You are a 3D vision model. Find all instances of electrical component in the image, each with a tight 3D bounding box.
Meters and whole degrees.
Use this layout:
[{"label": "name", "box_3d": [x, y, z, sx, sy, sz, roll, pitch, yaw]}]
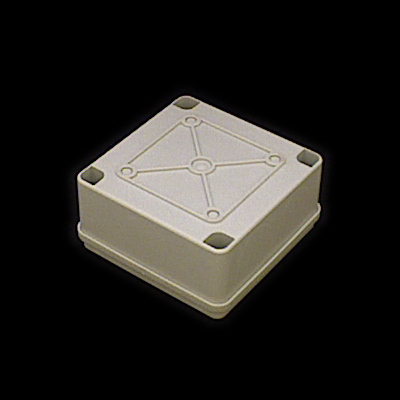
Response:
[{"label": "electrical component", "box_3d": [0.000, 0.000, 0.633, 0.108, 0.057, 0.108, 27, 48, 25]}]
